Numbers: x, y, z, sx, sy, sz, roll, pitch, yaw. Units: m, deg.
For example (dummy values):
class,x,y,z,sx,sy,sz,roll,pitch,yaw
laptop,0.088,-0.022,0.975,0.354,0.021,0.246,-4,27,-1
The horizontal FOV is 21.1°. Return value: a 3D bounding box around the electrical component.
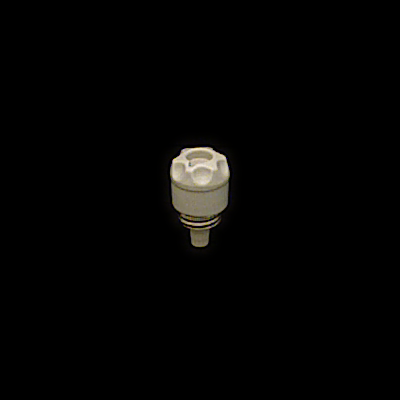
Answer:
class,x,y,z,sx,sy,sz,roll,pitch,yaw
electrical component,0.000,0.000,0.640,0.035,0.062,0.035,0,32,0
